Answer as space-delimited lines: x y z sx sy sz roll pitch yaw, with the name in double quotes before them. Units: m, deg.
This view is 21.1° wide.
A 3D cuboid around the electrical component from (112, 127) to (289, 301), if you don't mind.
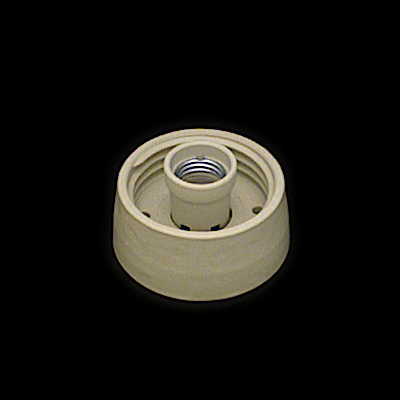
"electrical component" 0.000 0.000 0.638 0.108 0.061 0.106 1 43 0
